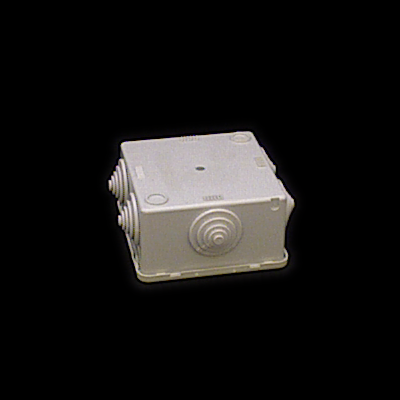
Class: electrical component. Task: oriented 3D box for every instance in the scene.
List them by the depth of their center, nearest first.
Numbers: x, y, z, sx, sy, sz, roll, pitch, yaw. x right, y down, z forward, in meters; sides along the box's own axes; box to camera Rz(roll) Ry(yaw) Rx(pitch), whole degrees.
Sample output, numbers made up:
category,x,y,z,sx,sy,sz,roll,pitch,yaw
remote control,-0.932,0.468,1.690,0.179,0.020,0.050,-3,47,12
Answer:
category,x,y,z,sx,sy,sz,roll,pitch,yaw
electrical component,0.000,0.000,0.636,0.100,0.049,0.098,-6,32,-11
